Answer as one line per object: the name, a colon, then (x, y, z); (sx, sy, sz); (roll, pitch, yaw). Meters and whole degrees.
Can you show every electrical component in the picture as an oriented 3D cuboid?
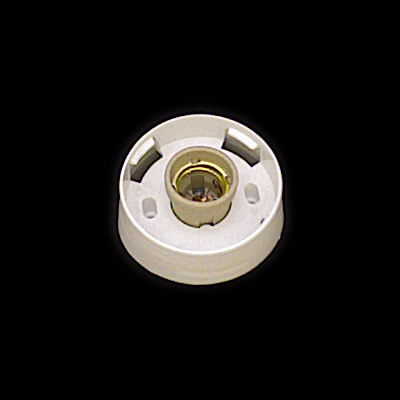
electrical component: (0.000, 0.000, 0.625); (0.099, 0.099, 0.064); (0, -28, 0)
